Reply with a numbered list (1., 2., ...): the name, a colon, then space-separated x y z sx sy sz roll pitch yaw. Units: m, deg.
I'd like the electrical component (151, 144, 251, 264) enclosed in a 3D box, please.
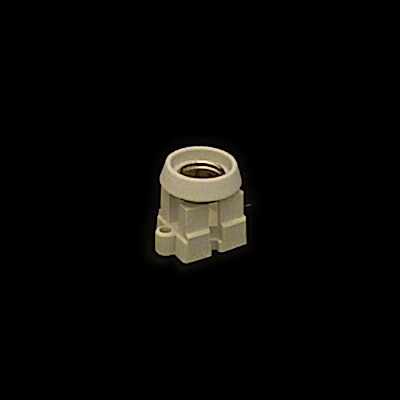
1. electrical component: 0.000 0.000 0.644 0.067 0.056 0.047 -18 39 -27
